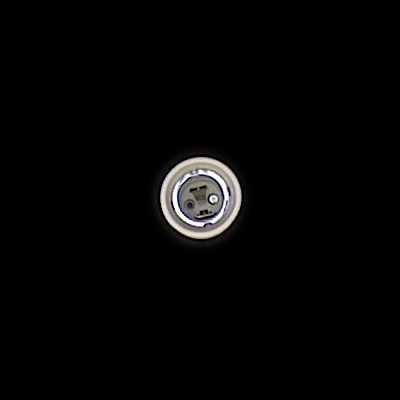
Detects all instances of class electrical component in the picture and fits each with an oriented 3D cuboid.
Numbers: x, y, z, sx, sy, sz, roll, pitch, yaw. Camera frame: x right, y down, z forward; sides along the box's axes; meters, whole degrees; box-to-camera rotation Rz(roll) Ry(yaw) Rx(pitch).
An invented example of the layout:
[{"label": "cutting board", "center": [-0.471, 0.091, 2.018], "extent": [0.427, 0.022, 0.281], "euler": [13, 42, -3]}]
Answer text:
[{"label": "electrical component", "center": [0.000, 0.000, 0.629], "extent": [0.045, 0.045, 0.055], "euler": [0, -5, 1]}]
